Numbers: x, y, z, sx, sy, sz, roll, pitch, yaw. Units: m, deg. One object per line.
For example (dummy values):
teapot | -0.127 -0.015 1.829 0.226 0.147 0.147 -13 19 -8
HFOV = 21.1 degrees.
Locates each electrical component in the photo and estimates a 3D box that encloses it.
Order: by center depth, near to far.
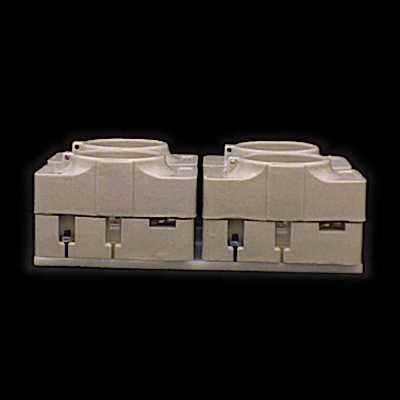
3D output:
electrical component | 0.000 0.000 0.643 0.186 0.060 0.104 1 10 0
